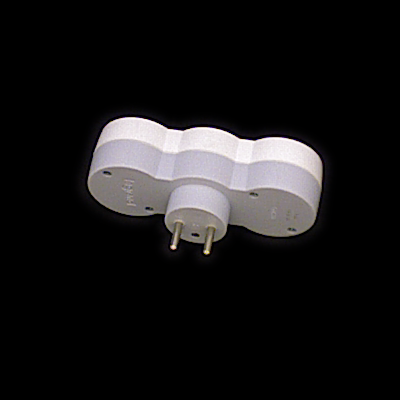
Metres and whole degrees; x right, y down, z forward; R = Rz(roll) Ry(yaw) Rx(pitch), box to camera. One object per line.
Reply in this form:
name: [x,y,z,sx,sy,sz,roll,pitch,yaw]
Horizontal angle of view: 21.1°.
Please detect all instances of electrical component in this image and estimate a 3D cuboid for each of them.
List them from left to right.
electrical component: [0.000,0.000,0.632,0.138,0.073,0.052,8,-35,5]
